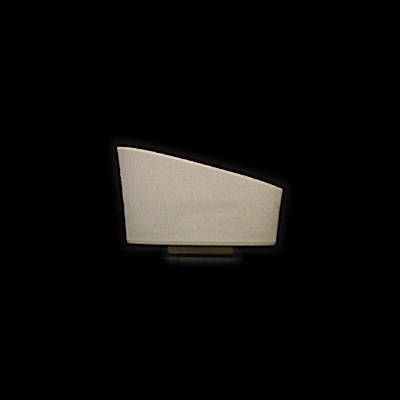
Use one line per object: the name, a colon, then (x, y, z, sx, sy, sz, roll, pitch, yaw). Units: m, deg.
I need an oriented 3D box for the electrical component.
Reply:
electrical component: (0.000, 0.000, 0.648, 0.099, 0.064, 0.099, 0, 0, 0)
